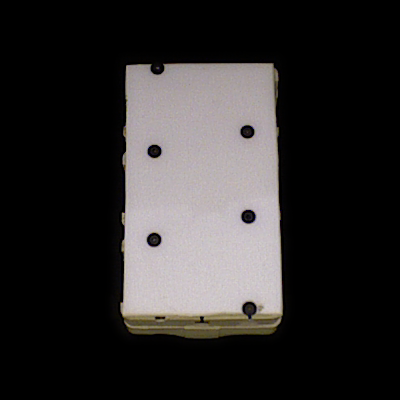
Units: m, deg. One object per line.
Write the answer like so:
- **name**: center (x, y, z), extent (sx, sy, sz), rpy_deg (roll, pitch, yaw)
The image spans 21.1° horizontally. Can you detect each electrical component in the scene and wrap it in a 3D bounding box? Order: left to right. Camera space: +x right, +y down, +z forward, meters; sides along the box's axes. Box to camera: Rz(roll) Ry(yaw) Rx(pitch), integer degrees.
- **electrical component**: center (0.000, 0.000, 0.631), extent (0.089, 0.149, 0.062), rpy_deg (0, -17, 0)
